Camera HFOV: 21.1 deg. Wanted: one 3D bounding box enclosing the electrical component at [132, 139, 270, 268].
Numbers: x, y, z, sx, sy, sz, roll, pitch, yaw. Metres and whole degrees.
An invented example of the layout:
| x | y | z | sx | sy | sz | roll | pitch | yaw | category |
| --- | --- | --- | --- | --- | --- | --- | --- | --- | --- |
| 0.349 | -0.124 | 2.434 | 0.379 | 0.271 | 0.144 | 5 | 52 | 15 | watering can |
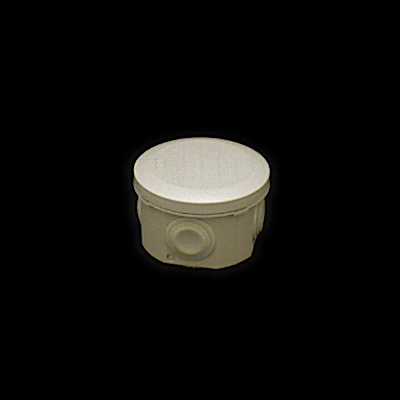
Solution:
| x | y | z | sx | sy | sz | roll | pitch | yaw | category |
| --- | --- | --- | --- | --- | --- | --- | --- | --- | --- |
| 0.000 | 0.000 | 0.639 | 0.080 | 0.051 | 0.079 | 1 | 31 | 0 | electrical component |
